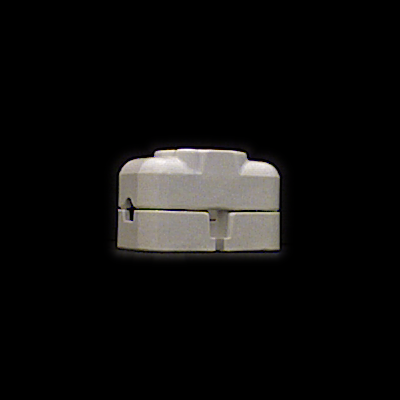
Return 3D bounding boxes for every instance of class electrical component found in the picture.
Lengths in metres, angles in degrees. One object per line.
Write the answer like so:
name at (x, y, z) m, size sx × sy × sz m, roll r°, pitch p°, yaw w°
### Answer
electrical component at (0.000, 0.000, 0.655) m, size 0.096 × 0.059 × 0.053 m, roll 1°, pitch 1°, yaw -29°
